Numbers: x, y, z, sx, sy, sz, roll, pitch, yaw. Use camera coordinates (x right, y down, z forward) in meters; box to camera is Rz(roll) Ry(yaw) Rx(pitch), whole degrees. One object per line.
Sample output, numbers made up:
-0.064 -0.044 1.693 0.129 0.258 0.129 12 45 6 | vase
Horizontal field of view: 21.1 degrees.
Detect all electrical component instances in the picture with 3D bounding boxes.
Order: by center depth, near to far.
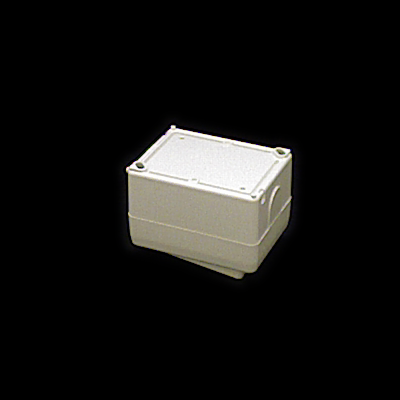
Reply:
0.000 0.000 0.635 0.095 0.061 0.061 13 34 19 | electrical component
